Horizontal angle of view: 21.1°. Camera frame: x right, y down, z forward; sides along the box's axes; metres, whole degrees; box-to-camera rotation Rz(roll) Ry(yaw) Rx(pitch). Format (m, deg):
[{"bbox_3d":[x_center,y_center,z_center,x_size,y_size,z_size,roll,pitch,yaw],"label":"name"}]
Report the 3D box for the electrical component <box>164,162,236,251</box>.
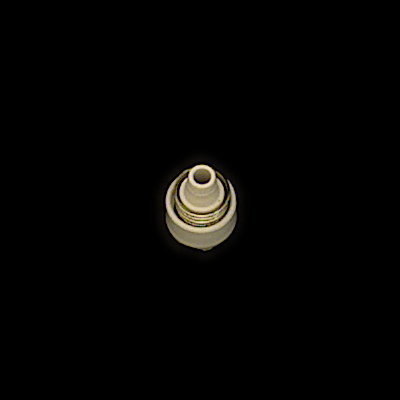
[{"bbox_3d":[0.000,0.000,0.634,0.043,0.043,0.062,0,-27,-1],"label":"electrical component"}]
